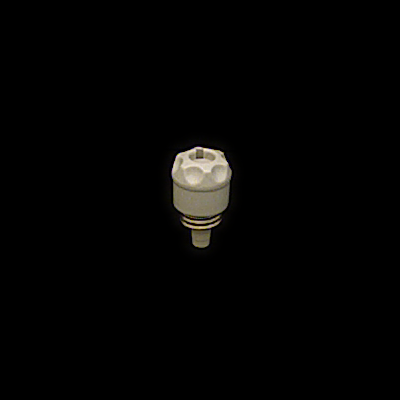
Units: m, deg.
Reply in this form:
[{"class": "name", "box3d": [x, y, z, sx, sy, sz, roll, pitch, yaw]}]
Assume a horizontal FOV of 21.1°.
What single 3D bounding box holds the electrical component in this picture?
[{"class": "electrical component", "box3d": [0.000, 0.000, 0.643, 0.035, 0.062, 0.034, 1, 32, 0]}]
